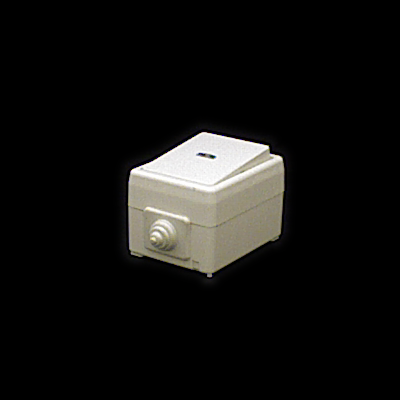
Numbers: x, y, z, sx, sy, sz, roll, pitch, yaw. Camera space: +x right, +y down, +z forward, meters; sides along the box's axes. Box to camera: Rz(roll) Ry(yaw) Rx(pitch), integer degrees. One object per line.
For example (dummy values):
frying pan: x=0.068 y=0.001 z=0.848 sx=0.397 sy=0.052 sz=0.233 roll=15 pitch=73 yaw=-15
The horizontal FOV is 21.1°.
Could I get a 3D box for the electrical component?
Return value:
electrical component: x=0.000 y=0.000 z=0.637 sx=0.061 sy=0.061 sz=0.096 roll=15 pitch=25 yaw=32
